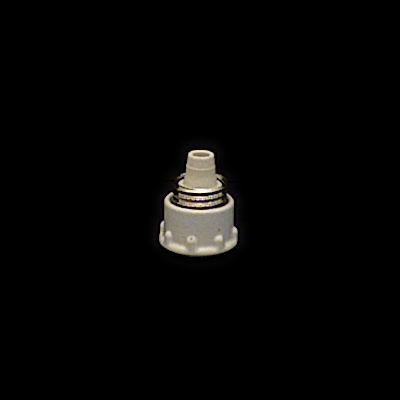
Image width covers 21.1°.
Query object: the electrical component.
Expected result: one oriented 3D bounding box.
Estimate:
[{"bbox_3d":[0.000,0.000,0.645,0.048,0.063,0.047,2,23,0],"label":"electrical component"}]
